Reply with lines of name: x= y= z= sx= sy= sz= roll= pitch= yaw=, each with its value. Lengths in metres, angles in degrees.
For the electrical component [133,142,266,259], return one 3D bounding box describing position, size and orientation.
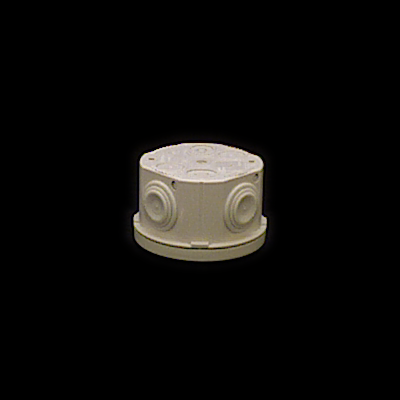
electrical component: x=0.000 y=0.000 z=0.641 sx=0.080 sy=0.051 sz=0.079 roll=2 pitch=21 yaw=0
